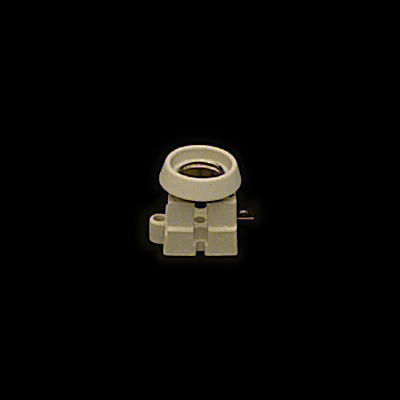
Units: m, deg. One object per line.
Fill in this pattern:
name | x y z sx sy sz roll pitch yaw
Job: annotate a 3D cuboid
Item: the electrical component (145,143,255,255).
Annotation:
electrical component | 0.000 0.000 0.644 0.066 0.056 0.048 0 34 -2
